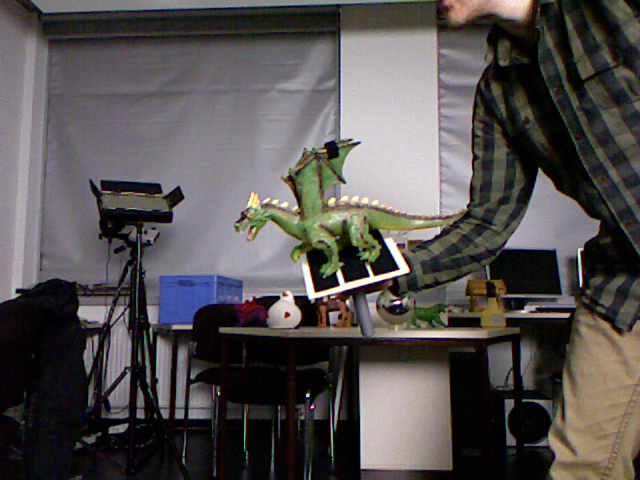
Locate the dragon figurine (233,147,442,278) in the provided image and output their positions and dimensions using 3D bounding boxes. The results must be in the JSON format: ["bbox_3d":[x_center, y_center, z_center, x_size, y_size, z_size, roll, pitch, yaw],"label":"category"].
[{"bbox_3d":[0.032,-0.069,1.017,0.412,0.238,0.125,-20,31,-5],"label":"dragon figurine"}]
